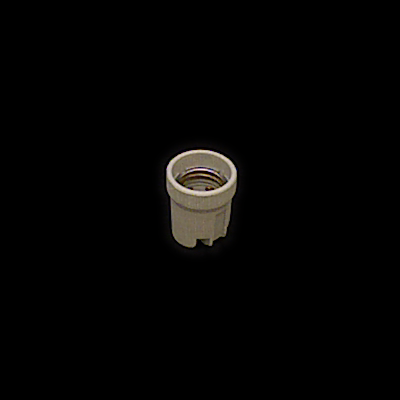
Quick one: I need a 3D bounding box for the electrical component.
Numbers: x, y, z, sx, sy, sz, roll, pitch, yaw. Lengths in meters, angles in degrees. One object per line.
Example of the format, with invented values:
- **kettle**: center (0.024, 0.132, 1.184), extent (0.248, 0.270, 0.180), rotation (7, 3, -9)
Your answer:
- **electrical component**: center (0.000, 0.000, 0.631), extent (0.040, 0.047, 0.039), rotation (1, 42, 0)
